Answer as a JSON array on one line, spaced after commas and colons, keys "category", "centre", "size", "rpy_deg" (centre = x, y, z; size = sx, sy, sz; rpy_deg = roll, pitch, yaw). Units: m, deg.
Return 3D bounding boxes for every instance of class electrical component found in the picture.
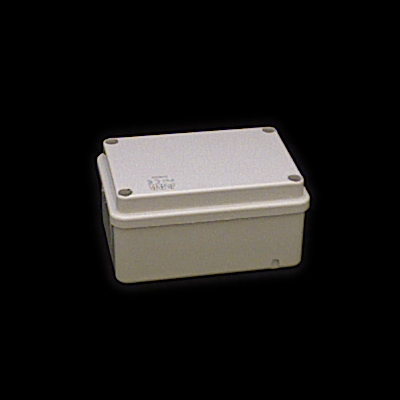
[{"category": "electrical component", "centre": [0.000, 0.000, 0.633], "size": [0.113, 0.058, 0.077], "rpy_deg": [-5, 32, -10]}]
